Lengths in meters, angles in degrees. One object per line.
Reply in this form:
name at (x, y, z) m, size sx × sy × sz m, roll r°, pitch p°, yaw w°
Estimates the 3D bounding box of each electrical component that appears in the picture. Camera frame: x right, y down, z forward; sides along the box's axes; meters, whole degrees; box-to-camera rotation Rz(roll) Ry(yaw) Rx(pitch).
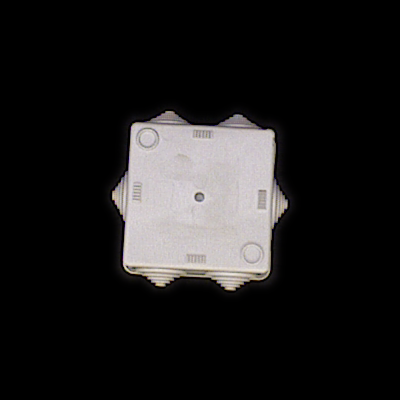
electrical component at (0.000, 0.000, 0.632) m, size 0.100 × 0.100 × 0.048 m, roll 3°, pitch -7°, yaw 0°
